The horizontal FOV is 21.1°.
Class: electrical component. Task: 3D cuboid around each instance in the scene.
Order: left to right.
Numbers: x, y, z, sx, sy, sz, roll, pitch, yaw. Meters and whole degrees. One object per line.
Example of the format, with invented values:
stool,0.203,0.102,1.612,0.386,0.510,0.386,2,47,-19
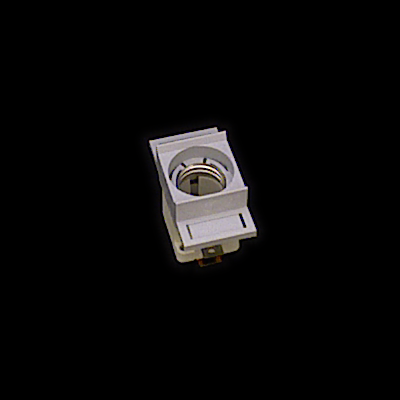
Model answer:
electrical component,0.000,0.000,0.624,0.042,0.080,0.064,-11,-37,-10
